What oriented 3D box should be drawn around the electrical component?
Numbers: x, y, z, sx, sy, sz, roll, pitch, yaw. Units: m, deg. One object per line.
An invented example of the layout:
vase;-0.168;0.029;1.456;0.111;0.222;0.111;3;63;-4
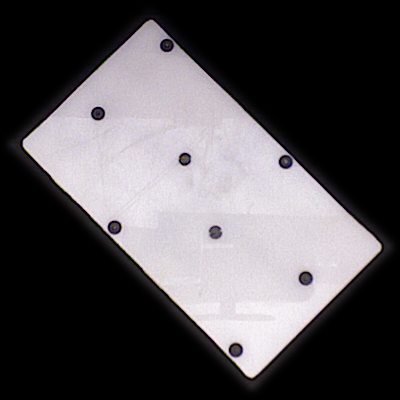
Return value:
electrical component;0.000;0.000;0.626;0.106;0.186;0.060;-45;-5;-4
